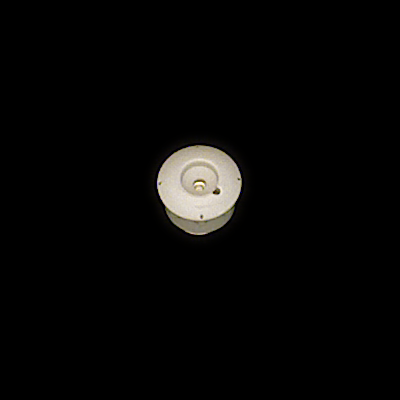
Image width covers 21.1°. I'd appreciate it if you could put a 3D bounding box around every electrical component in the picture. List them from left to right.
[{"bbox_3d":[0.000,0.000,0.634,0.048,0.048,0.062,0,-27,0],"label":"electrical component"}]
